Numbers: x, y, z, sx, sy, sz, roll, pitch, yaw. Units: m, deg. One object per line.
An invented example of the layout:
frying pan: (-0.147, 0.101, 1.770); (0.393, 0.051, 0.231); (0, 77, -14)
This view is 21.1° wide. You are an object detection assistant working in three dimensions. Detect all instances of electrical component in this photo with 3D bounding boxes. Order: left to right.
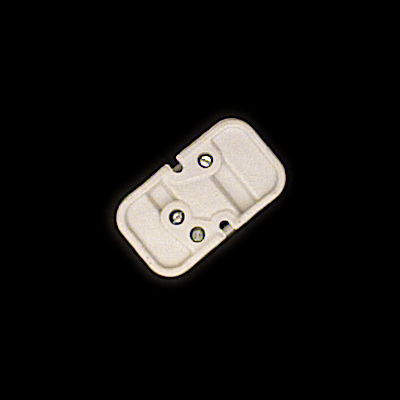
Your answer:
electrical component: (0.000, 0.000, 0.636); (0.095, 0.054, 0.059); (-39, -5, -4)
